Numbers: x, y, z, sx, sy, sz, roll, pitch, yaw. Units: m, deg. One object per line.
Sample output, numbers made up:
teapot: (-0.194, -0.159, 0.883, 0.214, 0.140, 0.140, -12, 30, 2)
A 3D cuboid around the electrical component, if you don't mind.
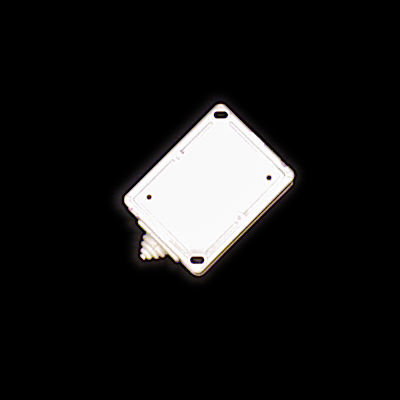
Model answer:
electrical component: (0.000, 0.000, 0.629, 0.062, 0.096, 0.061, 45, -4, 5)
